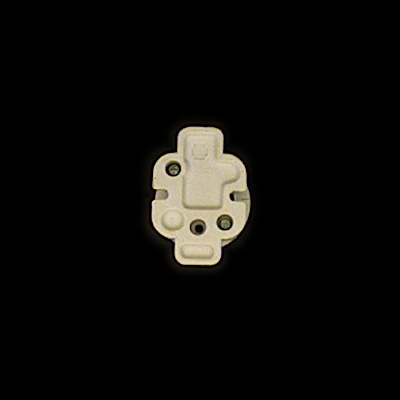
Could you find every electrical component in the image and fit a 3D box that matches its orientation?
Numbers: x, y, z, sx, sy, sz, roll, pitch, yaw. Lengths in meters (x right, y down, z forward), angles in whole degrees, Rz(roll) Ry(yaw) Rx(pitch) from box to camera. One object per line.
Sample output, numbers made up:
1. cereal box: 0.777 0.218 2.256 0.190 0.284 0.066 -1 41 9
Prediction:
1. electrical component: 0.000 0.000 0.637 0.058 0.079 0.056 0 -7 2
